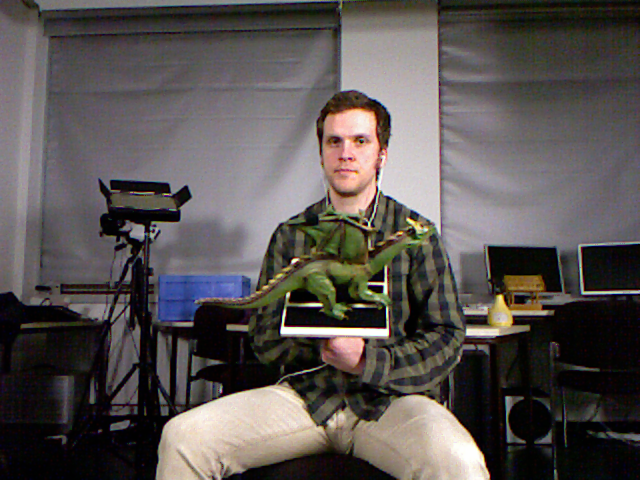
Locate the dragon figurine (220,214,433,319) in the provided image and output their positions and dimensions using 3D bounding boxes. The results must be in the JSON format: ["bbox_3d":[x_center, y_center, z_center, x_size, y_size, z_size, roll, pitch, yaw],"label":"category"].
[{"bbox_3d":[0.008,0.034,0.932,0.412,0.125,0.237,-9,-44,-6],"label":"dragon figurine"}]
